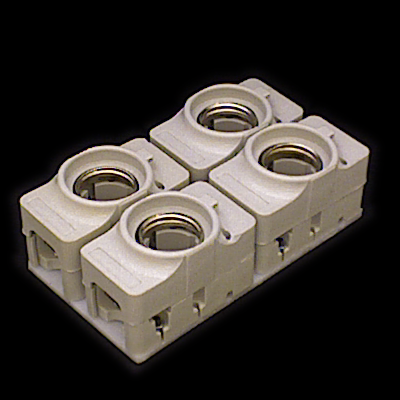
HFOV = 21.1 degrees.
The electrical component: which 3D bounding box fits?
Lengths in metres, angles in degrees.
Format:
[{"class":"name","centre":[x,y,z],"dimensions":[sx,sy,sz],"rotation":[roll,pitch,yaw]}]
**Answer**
[{"class":"electrical component","centre":[0.000,0.000,0.631],"dimensions":[0.186,0.061,0.104],"rotation":[-30,50,-31]}]
